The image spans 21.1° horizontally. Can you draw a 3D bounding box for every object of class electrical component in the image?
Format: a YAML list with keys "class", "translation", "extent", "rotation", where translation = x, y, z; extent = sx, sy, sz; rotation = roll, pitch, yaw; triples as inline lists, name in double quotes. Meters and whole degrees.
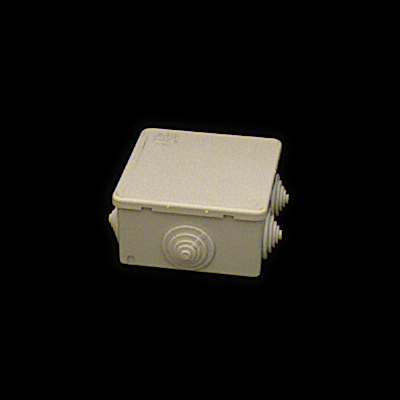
- class: "electrical component"
  translation: [0.000, 0.000, 0.645]
  extent: [0.099, 0.049, 0.099]
  rotation: [6, 33, 7]
